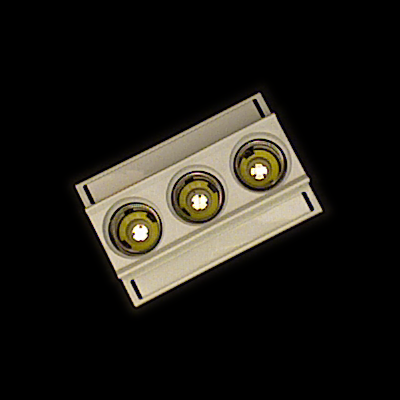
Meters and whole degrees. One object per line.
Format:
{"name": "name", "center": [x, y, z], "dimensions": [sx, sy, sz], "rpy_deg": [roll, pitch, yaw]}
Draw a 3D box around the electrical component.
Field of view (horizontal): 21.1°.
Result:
{"name": "electrical component", "center": [0.000, 0.000, 0.637], "dimensions": [0.121, 0.079, 0.063], "rpy_deg": [-27, -7, -2]}
